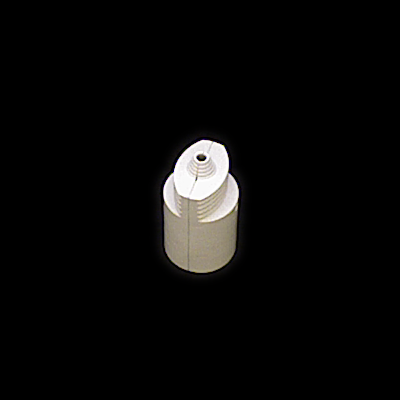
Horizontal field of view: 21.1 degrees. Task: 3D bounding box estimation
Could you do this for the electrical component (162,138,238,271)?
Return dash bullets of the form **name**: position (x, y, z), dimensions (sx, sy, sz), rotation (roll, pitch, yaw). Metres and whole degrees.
- **electrical component**: position (0.000, 0.000, 0.619), dimensions (0.043, 0.043, 0.081), rotation (0, -38, 0)
